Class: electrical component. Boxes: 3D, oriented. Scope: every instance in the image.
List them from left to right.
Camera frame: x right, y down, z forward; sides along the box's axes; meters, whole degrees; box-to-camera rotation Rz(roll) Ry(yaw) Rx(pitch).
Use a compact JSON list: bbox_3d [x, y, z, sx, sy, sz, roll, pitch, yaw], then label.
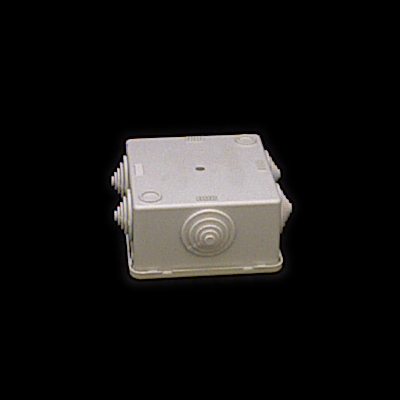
[{"bbox_3d":[0.000,0.000,0.638,0.100,0.049,0.098,-2,32,-6],"label":"electrical component"}]
